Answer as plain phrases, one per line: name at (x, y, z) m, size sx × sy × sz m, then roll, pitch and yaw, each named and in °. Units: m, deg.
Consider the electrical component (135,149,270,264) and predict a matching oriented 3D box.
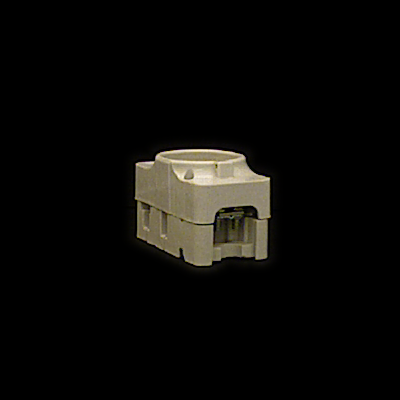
electrical component at (0.000, 0.000, 0.651) m, size 0.050 × 0.056 × 0.088 m, roll -5°, pitch 13°, yaw -28°
